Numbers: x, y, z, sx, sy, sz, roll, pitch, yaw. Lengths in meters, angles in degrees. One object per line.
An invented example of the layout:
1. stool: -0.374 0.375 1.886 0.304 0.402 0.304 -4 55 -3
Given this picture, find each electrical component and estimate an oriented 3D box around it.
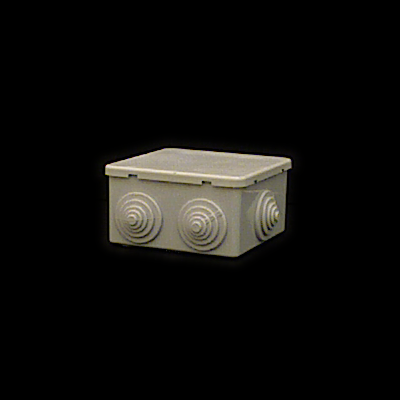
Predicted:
1. electrical component: 0.000 0.000 0.653 0.099 0.049 0.100 6 12 23
